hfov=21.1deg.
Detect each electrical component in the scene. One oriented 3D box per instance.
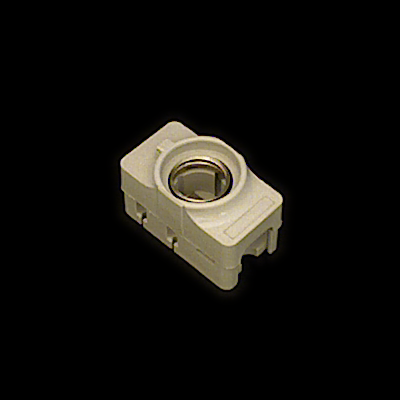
[{"bbox_3d":[0.000,0.000,0.637,0.089,0.056,0.050,36,61,23],"label":"electrical component"}]
